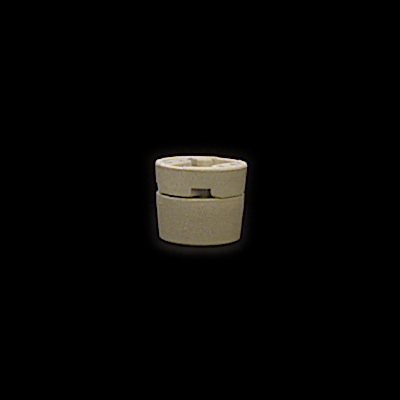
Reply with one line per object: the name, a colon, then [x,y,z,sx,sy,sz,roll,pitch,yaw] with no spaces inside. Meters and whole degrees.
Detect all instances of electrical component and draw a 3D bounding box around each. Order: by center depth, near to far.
electrical component: [0.000,0.000,0.648,0.055,0.047,0.055,1,11,0]
